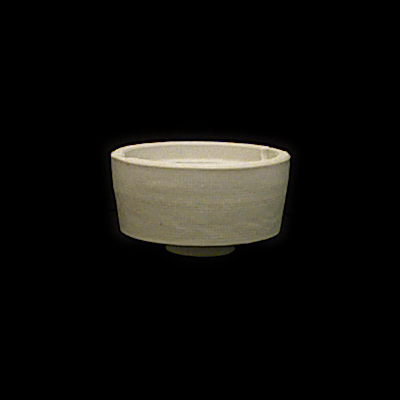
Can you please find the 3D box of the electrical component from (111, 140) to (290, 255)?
[{"bbox_3d":[0.000,0.000,0.655,0.108,0.061,0.107,1,11,0],"label":"electrical component"}]
